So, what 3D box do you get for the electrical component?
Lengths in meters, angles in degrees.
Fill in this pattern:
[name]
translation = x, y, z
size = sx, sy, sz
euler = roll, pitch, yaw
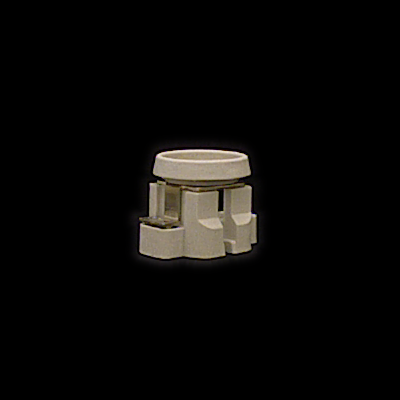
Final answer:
[electrical component]
translation = 0.000, 0.000, 0.642
size = 0.078, 0.057, 0.057
euler = -9, 15, -42
